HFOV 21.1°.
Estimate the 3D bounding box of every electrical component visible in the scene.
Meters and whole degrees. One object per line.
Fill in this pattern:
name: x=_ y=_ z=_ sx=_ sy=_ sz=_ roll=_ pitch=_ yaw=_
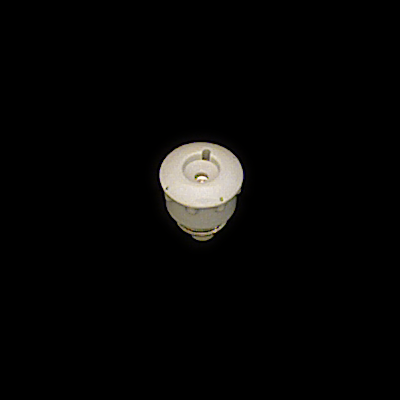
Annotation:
electrical component: x=0.000 y=0.000 z=0.635 sx=0.048 sy=0.048 sz=0.062 roll=0 pitch=-37 yaw=0
